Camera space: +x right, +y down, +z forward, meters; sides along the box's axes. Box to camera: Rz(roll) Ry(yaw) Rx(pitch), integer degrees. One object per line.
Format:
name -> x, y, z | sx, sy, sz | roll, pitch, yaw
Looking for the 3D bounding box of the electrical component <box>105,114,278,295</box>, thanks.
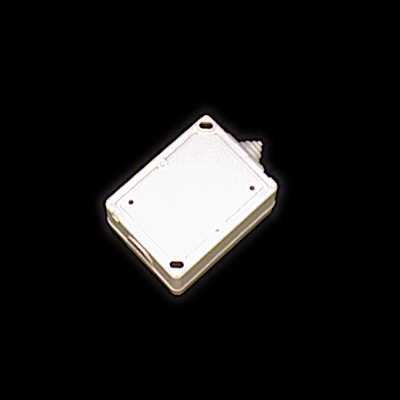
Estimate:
electrical component -> 0.000, 0.000, 0.628 | 0.096, 0.062, 0.060 | -42, -12, -12
